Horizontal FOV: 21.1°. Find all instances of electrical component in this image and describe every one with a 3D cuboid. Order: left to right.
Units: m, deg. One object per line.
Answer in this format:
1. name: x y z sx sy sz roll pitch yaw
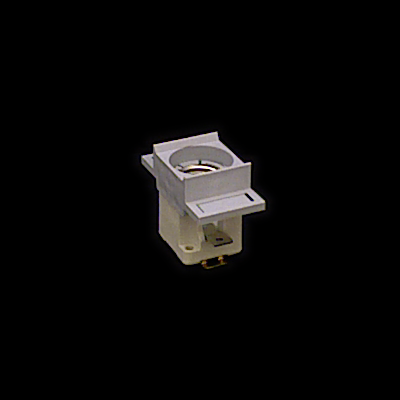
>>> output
1. electrical component: 0.000 0.000 0.631 0.042 0.064 0.080 -12 33 -22
